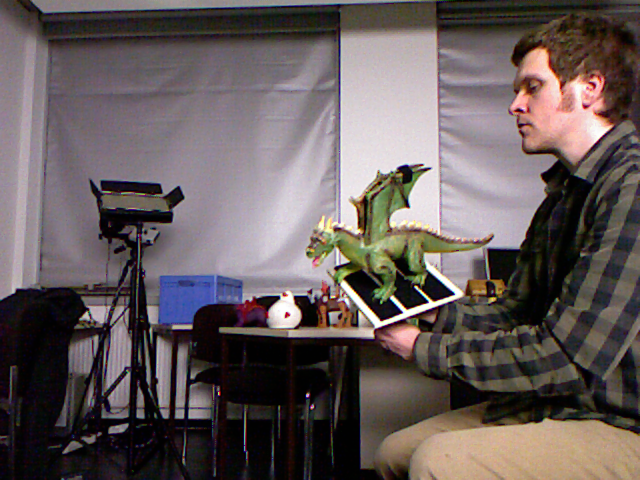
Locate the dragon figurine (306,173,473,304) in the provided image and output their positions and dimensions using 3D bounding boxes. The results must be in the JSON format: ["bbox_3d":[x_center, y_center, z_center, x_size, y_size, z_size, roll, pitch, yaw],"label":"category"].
[{"bbox_3d":[0.149,-0.019,0.996,0.414,0.237,0.124,-21,41,-24],"label":"dragon figurine"}]
